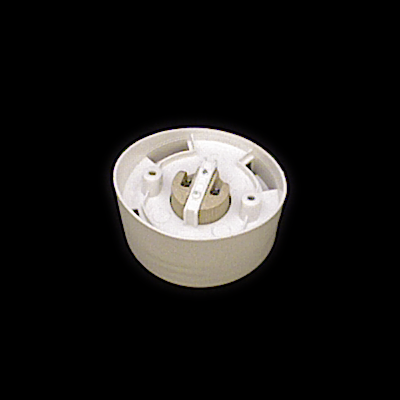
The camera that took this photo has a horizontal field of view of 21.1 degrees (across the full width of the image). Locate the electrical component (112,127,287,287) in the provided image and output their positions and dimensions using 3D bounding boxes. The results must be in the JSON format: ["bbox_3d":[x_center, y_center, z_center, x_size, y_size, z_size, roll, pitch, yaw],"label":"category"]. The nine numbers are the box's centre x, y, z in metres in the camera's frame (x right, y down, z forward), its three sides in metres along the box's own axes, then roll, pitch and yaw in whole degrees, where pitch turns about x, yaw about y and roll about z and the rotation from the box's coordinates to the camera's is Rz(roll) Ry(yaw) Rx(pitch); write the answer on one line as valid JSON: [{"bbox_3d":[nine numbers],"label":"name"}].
[{"bbox_3d":[0.000,0.000,0.625,0.099,0.098,0.064,0,-36,-1],"label":"electrical component"}]
